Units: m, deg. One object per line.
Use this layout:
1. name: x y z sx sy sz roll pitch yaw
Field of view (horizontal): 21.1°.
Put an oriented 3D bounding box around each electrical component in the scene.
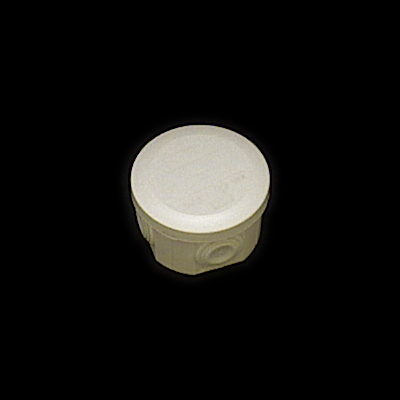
1. electrical component: 0.000 0.000 0.630 0.080 0.080 0.051 0 -38 0
